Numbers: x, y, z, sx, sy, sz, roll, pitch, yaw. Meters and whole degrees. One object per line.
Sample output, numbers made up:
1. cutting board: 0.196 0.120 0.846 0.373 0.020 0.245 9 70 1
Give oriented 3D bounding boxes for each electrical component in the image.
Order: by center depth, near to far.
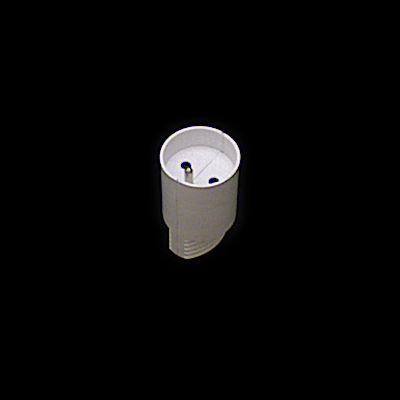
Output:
1. electrical component: 0.000 0.000 0.617 0.043 0.043 0.081 0 -38 1
